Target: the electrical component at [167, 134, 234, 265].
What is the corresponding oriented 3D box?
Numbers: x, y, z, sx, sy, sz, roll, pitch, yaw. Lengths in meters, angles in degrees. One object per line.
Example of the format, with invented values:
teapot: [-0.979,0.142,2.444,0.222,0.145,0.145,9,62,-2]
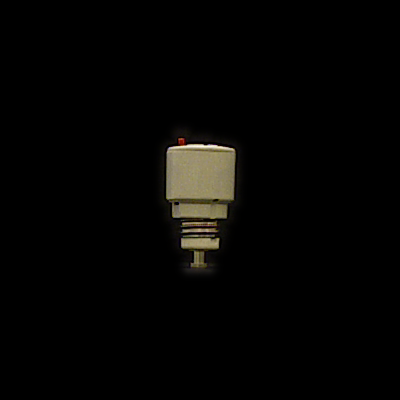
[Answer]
electrical component: [0.000,0.000,0.649,0.040,0.078,0.040,1,2,0]
